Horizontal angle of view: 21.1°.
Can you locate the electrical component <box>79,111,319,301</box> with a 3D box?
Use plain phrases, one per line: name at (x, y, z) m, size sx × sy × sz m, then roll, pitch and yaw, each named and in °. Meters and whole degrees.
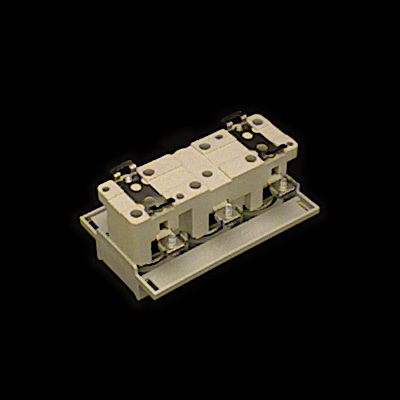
electrical component at (0.000, 0.000, 0.639) m, size 0.122 × 0.063 × 0.077 m, roll -26°, pitch 48°, yaw -27°
